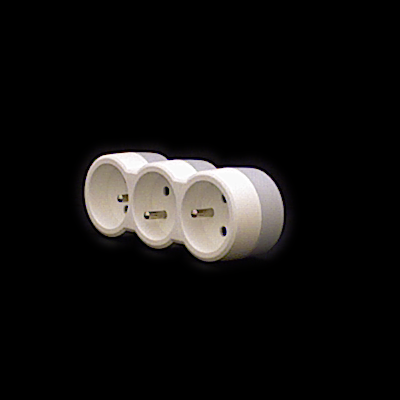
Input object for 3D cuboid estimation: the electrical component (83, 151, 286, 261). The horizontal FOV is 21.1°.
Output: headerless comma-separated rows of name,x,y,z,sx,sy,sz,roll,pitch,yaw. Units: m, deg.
electrical component,0.000,0.000,0.647,0.074,0.052,0.137,-6,12,-43
